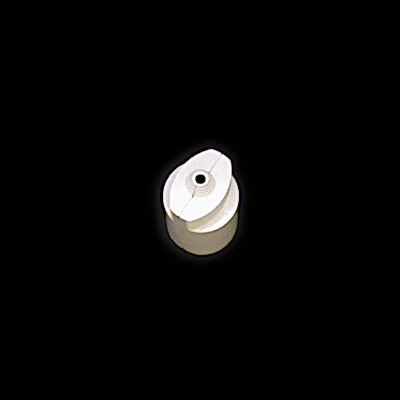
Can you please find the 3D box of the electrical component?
[{"bbox_3d":[0.000,0.000,0.616,0.043,0.043,0.080,0,-17,0],"label":"electrical component"}]
